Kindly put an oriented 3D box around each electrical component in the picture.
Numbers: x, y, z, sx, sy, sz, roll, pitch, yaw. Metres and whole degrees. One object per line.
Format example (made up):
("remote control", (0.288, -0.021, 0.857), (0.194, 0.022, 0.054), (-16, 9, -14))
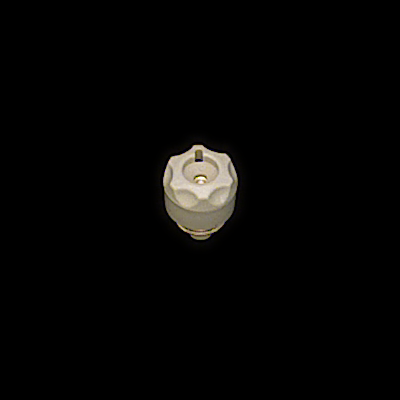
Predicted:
("electrical component", (0.000, 0.000, 0.635), (0.043, 0.043, 0.062), (0, -36, -1))
